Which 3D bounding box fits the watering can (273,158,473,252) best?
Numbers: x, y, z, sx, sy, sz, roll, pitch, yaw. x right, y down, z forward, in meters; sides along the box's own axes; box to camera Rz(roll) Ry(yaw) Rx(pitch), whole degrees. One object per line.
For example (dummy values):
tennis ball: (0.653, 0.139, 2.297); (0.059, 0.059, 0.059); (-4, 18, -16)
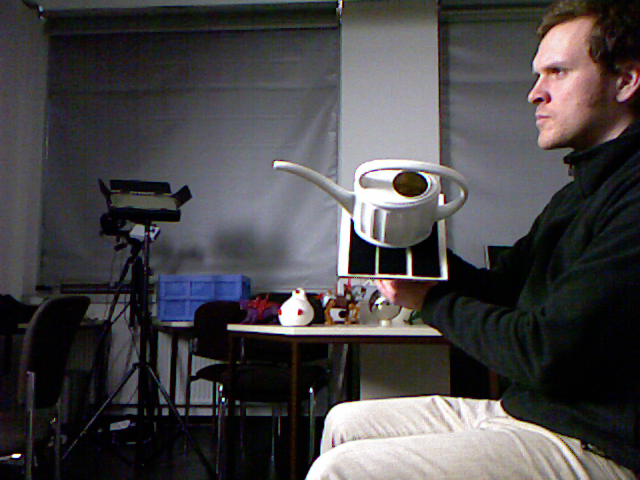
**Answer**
watering can: (0.096, -0.074, 0.949); (0.349, 0.107, 0.220); (4, -34, 4)
